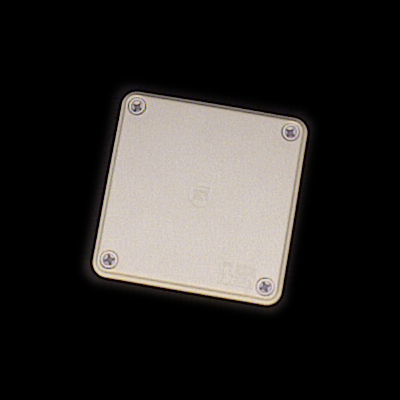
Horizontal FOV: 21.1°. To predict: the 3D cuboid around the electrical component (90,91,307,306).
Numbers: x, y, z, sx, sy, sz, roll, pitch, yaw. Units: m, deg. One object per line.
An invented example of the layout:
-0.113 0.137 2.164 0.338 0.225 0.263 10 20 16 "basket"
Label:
0.000 0.000 0.631 0.109 0.109 0.056 10 -7 1 "electrical component"
